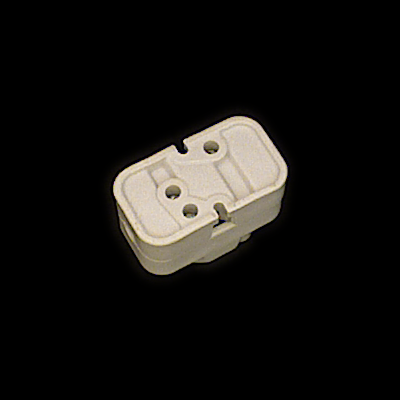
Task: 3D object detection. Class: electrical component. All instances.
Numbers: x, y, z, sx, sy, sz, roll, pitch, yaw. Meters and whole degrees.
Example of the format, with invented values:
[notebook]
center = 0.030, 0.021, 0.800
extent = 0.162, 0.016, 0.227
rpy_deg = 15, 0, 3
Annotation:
[electrical component]
center = 0.000, 0.000, 0.634
extent = 0.095, 0.053, 0.059
rpy_deg = -27, -24, -13
